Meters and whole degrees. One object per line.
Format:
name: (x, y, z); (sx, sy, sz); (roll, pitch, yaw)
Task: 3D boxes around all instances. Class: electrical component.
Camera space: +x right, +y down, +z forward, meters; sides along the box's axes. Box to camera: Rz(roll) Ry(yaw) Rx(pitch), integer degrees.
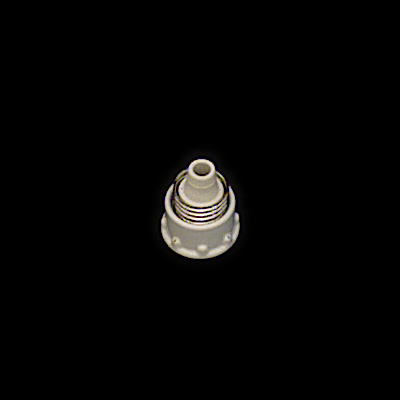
electrical component: (0.000, 0.000, 0.636); (0.048, 0.048, 0.062); (0, -37, -2)
